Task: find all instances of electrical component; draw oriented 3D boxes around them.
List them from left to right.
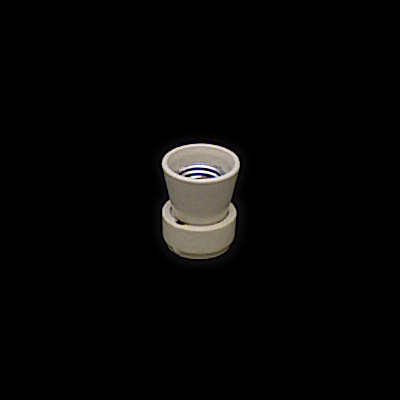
[{"bbox_3d":[0.000,0.000,0.636,0.045,0.056,0.044,1,32,0],"label":"electrical component"}]
